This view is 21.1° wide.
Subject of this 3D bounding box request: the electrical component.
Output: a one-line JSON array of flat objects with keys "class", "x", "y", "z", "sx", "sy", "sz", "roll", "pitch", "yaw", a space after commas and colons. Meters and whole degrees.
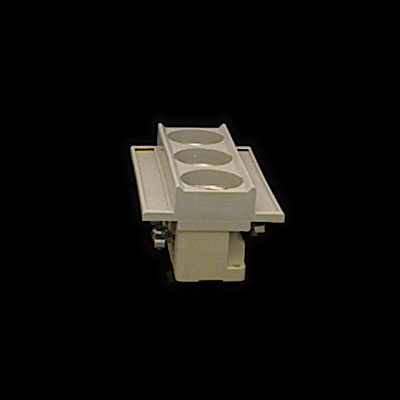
[{"class": "electrical component", "x": 0.000, "y": 0.000, "z": 0.652, "sx": 0.079, "sy": 0.064, "sz": 0.119, "roll": 0, "pitch": 21, "yaw": -7}]
